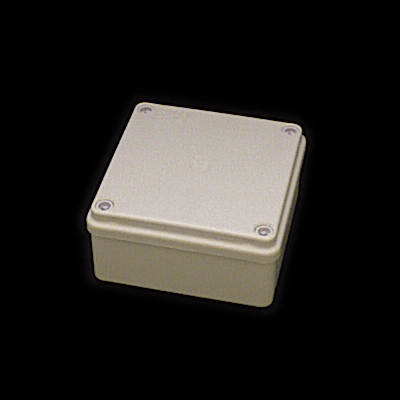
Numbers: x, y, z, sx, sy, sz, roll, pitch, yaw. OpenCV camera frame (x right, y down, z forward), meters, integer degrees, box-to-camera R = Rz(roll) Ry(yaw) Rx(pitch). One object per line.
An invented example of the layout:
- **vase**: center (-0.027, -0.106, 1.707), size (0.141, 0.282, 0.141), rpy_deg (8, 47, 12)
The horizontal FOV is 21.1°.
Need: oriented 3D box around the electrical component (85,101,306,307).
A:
- **electrical component**: center (0.000, 0.000, 0.631), size (0.108, 0.056, 0.108), rpy_deg (9, 43, 9)
